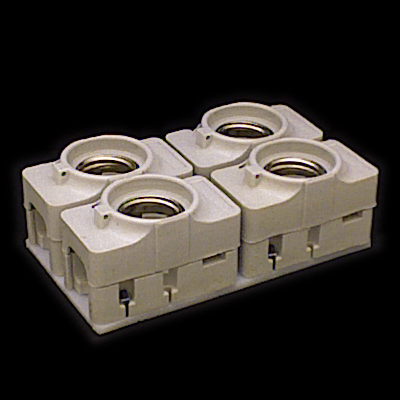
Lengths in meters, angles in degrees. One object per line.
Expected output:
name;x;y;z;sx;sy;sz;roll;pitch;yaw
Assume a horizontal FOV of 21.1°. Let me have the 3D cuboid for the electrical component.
electrical component;0.000;0.000;0.633;0.186;0.061;0.104;-16;35;-25
